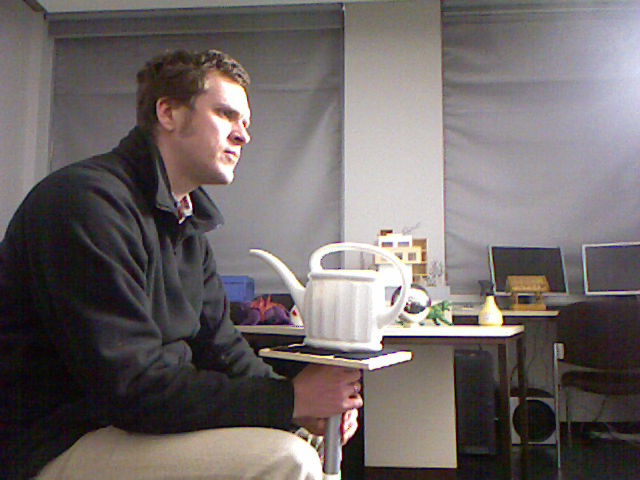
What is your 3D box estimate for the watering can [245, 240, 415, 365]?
[{"bbox_3d":[0.006,0.112,0.950,0.347,0.225,0.104,1,-4,28],"label":"watering can"}]
